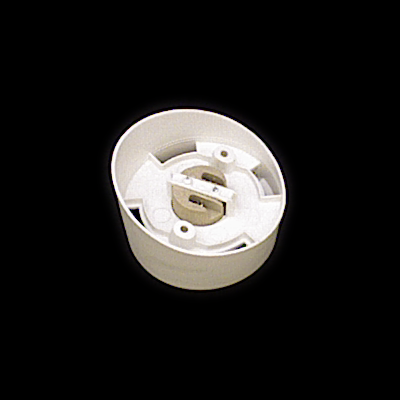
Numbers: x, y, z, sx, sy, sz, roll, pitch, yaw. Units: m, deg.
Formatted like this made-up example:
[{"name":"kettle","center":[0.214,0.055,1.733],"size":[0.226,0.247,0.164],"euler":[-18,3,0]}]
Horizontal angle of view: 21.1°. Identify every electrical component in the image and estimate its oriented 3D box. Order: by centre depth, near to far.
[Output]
[{"name":"electrical component","center":[0.000,0.000,0.625],"size":[0.099,0.098,0.064],"euler":[0,-37,1]}]
